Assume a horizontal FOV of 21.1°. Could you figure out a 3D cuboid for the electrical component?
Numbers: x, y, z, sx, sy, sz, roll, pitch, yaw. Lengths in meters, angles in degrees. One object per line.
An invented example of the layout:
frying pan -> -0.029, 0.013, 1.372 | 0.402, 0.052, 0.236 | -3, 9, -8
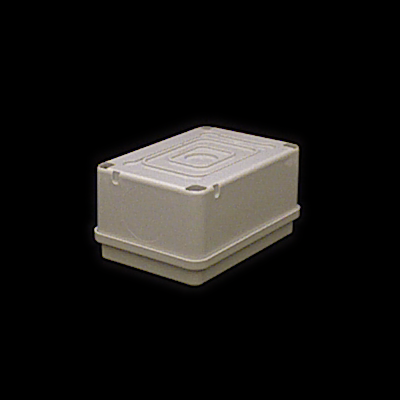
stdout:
electrical component -> 0.000, 0.000, 0.640 | 0.077, 0.058, 0.112 | 15, 24, 33
